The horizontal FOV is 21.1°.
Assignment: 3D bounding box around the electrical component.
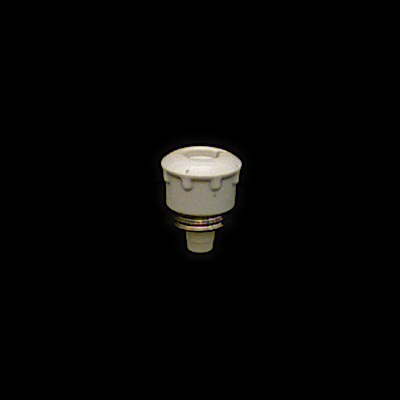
[{"bbox_3d":[0.000,0.000,0.648,0.048,0.063,0.047,1,22,0],"label":"electrical component"}]
